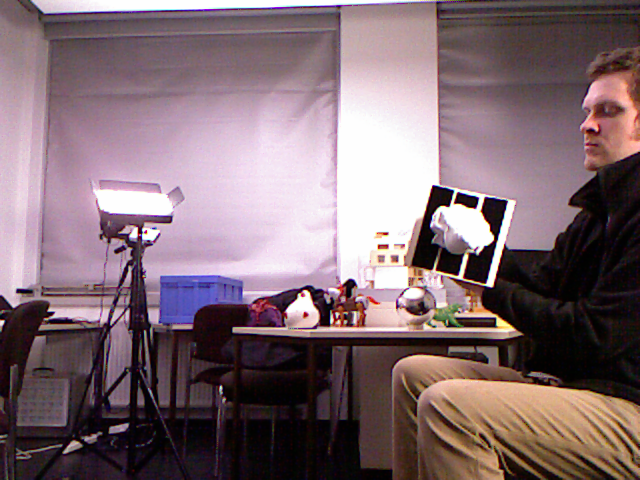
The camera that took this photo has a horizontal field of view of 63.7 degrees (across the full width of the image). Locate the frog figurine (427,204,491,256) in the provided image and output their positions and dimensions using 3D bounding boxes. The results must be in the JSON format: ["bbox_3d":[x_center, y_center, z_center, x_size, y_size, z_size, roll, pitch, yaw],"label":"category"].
[{"bbox_3d":[0.305,-0.025,1.124,0.139,0.123,0.159,37,-2,11],"label":"frog figurine"}]
